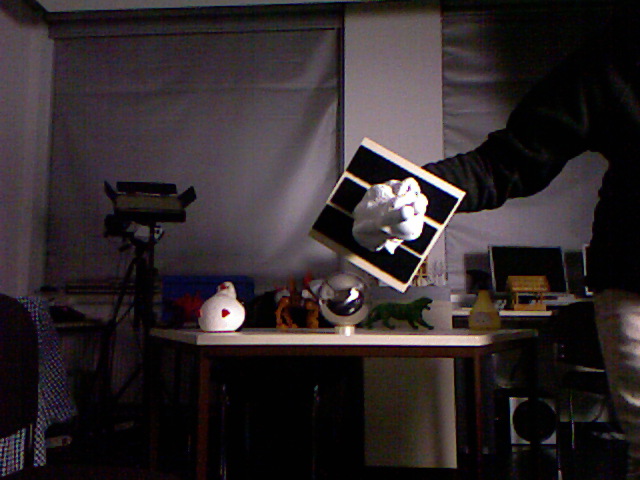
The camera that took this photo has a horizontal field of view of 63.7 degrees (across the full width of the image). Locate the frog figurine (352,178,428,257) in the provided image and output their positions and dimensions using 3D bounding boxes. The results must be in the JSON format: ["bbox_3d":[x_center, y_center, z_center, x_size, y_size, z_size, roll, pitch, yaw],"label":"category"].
[{"bbox_3d":[0.110,-0.040,0.837,0.137,0.123,0.159,-42,-8,3],"label":"frog figurine"}]
